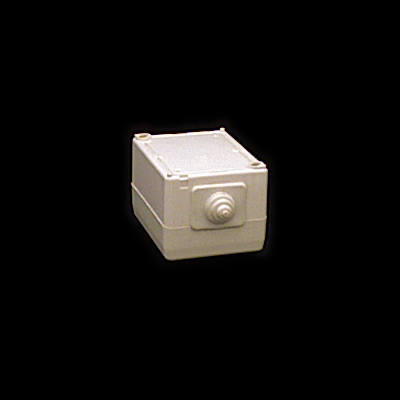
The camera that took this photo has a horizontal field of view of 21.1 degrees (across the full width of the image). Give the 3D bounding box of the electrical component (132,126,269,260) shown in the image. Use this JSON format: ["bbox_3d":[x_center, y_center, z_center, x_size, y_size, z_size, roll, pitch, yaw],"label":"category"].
[{"bbox_3d":[0.000,0.000,0.637,0.062,0.061,0.095,-6,23,-17],"label":"electrical component"}]
